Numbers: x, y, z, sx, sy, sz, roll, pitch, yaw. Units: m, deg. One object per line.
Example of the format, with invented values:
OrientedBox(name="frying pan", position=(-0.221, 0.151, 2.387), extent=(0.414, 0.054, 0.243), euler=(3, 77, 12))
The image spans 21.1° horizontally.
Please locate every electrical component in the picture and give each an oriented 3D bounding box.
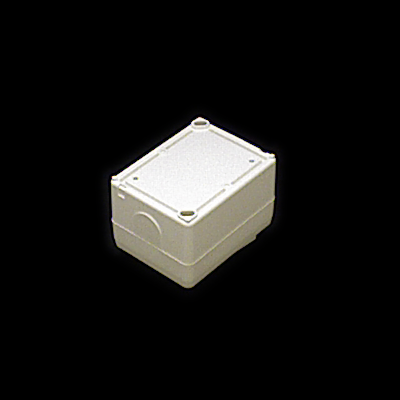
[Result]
OrientedBox(name="electrical component", position=(0.001, 0.000, 0.636), extent=(0.061, 0.061, 0.095), euler=(29, 49, 29))
